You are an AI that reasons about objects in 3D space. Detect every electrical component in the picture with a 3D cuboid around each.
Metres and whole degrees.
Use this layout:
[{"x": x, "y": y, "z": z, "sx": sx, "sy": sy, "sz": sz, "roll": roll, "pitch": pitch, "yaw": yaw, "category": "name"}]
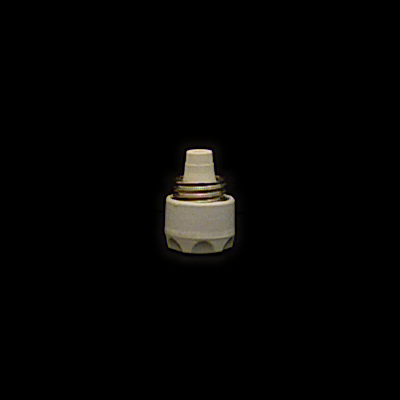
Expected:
[{"x": 0.000, "y": 0.000, "z": 0.651, "sx": 0.043, "sy": 0.062, "sz": 0.043, "roll": 0, "pitch": 12, "yaw": 1, "category": "electrical component"}]
